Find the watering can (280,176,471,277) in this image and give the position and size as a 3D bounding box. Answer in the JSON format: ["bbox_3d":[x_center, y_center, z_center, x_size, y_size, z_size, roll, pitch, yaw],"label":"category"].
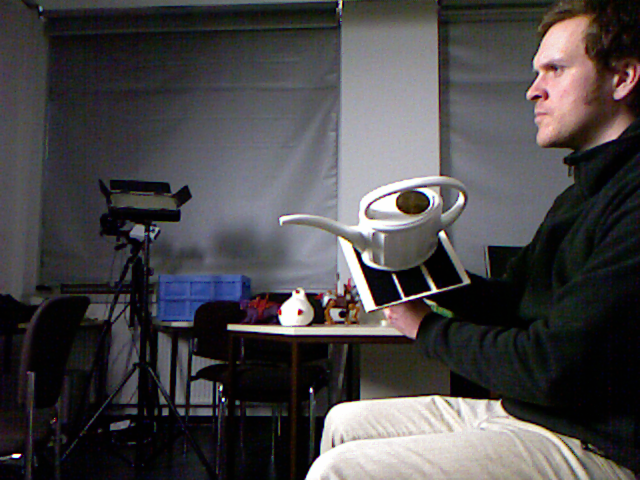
[{"bbox_3d":[0.107,-0.021,0.950,0.349,0.107,0.220,-12,-38,-5],"label":"watering can"}]
